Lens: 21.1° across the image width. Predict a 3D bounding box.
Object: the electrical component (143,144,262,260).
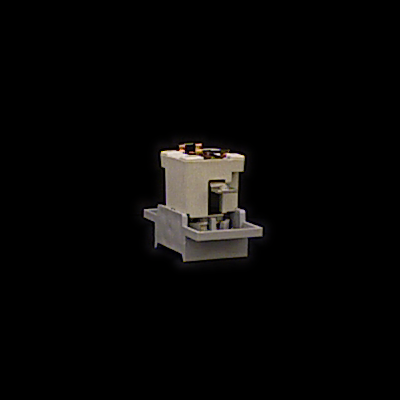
[{"bbox_3d":[0.000,0.000,0.644,0.042,0.064,0.080,-4,12,-25],"label":"electrical component"}]
